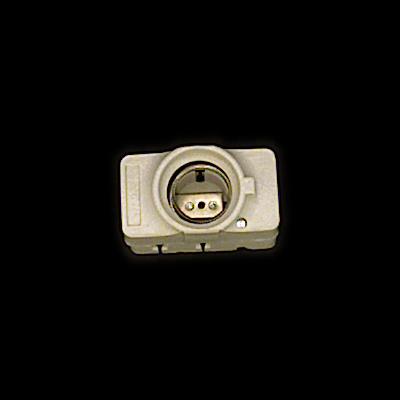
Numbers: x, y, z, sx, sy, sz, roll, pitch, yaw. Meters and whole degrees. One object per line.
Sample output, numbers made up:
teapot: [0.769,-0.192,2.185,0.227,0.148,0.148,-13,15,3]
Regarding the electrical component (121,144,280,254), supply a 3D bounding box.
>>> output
electrical component: [0.000,0.000,0.636,0.090,0.050,0.055,-3,-16,-1]
